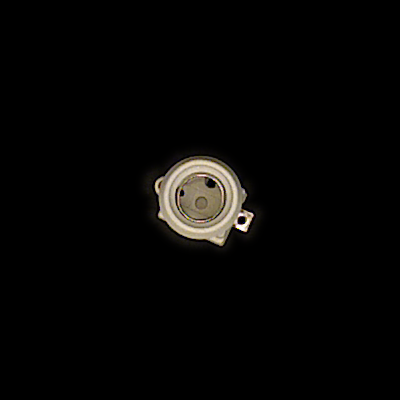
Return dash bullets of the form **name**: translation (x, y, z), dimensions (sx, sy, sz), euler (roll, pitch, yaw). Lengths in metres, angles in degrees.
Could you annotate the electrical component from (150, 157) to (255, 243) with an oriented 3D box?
- **electrical component**: translation (0.000, 0.000, 0.639), dimensions (0.066, 0.048, 0.055), euler (23, -3, 3)
